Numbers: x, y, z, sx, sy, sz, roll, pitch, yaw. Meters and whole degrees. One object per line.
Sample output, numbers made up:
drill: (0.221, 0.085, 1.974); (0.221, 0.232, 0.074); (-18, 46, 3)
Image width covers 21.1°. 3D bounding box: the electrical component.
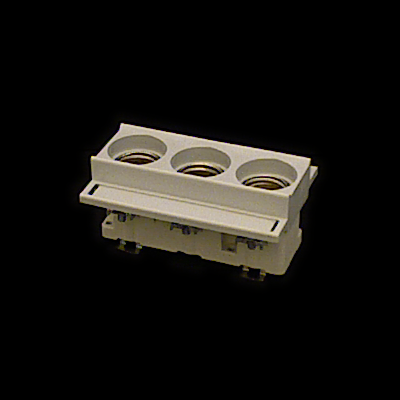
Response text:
electrical component: (0.000, 0.000, 0.645); (0.121, 0.064, 0.078); (12, 35, 17)
